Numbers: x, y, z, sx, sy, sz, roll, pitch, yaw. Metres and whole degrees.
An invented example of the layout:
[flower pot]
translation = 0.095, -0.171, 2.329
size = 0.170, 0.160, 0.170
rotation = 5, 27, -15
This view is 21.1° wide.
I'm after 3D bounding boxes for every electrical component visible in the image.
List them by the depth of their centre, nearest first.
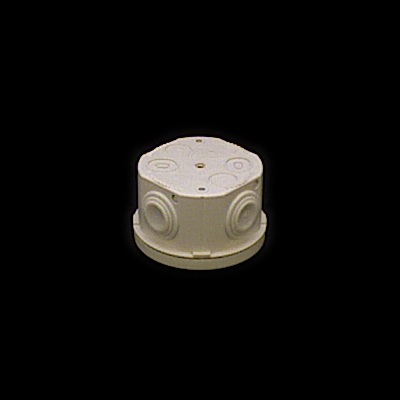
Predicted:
[electrical component]
translation = 0.000, 0.000, 0.638
size = 0.080, 0.051, 0.079
rotation = 1, 31, 0
